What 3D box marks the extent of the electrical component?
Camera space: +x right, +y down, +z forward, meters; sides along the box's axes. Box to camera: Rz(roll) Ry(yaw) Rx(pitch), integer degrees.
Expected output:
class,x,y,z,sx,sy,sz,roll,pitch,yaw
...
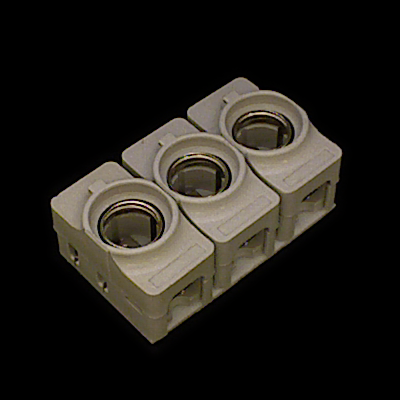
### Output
class,x,y,z,sx,sy,sz,roll,pitch,yaw
electrical component,0.000,0.000,0.634,0.149,0.062,0.088,-36,60,-25
